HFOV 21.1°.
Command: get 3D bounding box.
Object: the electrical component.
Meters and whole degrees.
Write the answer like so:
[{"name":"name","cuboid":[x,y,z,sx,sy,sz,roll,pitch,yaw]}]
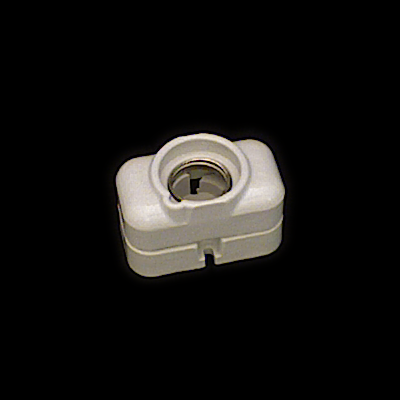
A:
[{"name":"electrical component","cuboid":[0.000,0.000,0.634,0.095,0.053,0.059,-11,-37,-8]}]
